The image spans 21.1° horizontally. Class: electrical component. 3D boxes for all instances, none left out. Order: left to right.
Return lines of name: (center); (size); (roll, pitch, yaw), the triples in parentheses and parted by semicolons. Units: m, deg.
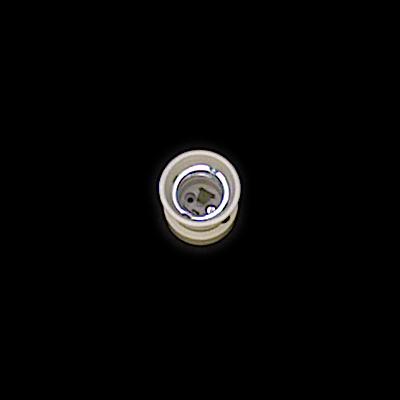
electrical component: (0.000, 0.000, 0.627); (0.045, 0.045, 0.055); (0, -16, 1)
